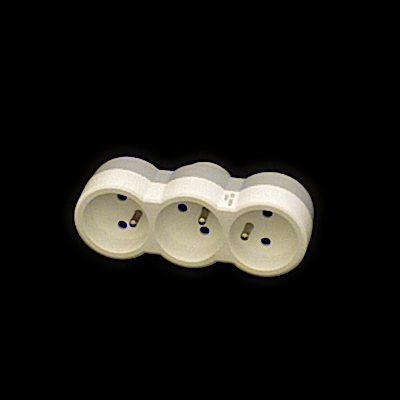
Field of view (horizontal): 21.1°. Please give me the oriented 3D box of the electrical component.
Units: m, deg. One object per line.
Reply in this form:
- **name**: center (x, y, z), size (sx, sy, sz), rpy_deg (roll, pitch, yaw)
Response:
- **electrical component**: center (0.000, 0.000, 0.646), size (0.138, 0.053, 0.073), rpy_deg (6, 31, 8)
